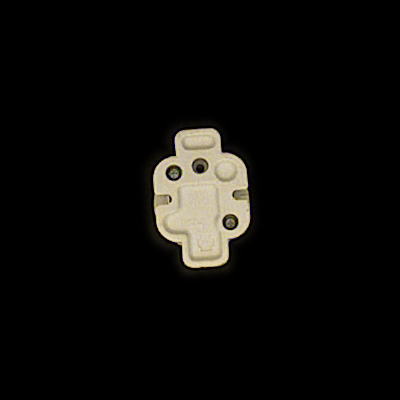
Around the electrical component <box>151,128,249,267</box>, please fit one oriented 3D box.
[{"bbox_3d":[0.000,0.000,0.637,0.058,0.078,0.056,-5,-4,-1],"label":"electrical component"}]
